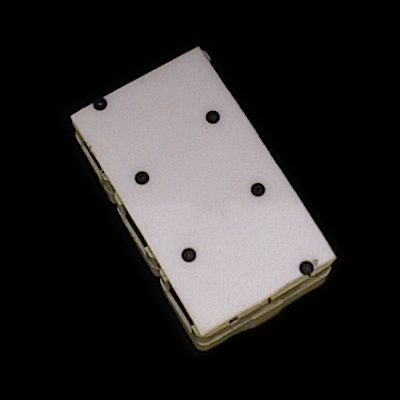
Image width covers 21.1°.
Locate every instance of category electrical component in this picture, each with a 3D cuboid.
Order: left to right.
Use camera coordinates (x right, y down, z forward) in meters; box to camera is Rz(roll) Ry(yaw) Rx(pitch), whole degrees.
[{"bbox_3d":[0.000,0.000,0.631,0.090,0.149,0.062,-29,-15,-8],"label":"electrical component"}]
